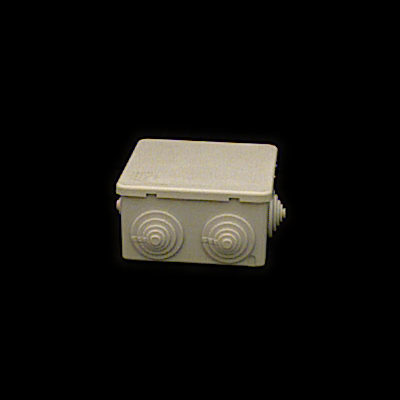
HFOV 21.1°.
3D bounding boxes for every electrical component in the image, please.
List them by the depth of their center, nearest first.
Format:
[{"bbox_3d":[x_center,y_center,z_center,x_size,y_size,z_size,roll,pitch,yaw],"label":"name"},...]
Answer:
[{"bbox_3d":[0.000,0.000,0.646,0.099,0.049,0.099,3,22,5],"label":"electrical component"}]
